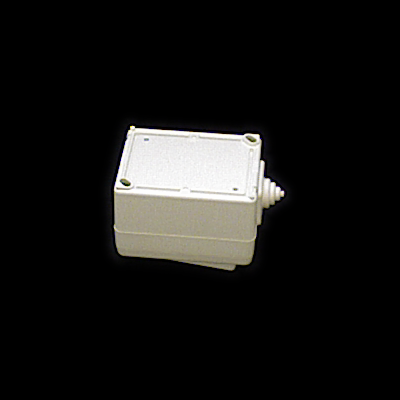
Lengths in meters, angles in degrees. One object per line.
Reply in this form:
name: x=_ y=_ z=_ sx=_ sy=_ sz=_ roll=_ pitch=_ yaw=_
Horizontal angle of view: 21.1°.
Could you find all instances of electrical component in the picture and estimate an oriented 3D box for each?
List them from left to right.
electrical component: x=0.000 y=0.000 z=0.632 sx=0.096 sy=0.061 sz=0.061 roll=4 pitch=41 yaw=4
